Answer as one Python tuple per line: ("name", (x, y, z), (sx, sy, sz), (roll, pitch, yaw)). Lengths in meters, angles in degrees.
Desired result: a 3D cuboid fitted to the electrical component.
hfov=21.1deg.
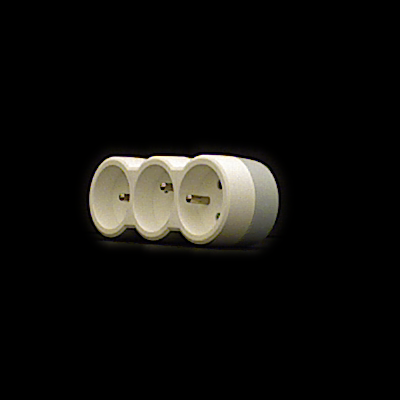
("electrical component", (0.000, 0.000, 0.657), (0.074, 0.052, 0.137), (2, 0, -40))
